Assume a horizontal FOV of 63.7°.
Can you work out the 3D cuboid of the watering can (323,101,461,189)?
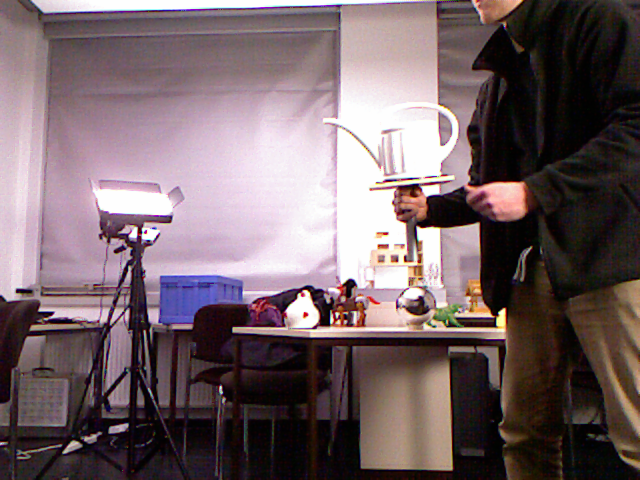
[{"bbox_3d":[0.189,-0.239,1.337,0.348,0.223,0.105,-4,7,6],"label":"watering can"}]
